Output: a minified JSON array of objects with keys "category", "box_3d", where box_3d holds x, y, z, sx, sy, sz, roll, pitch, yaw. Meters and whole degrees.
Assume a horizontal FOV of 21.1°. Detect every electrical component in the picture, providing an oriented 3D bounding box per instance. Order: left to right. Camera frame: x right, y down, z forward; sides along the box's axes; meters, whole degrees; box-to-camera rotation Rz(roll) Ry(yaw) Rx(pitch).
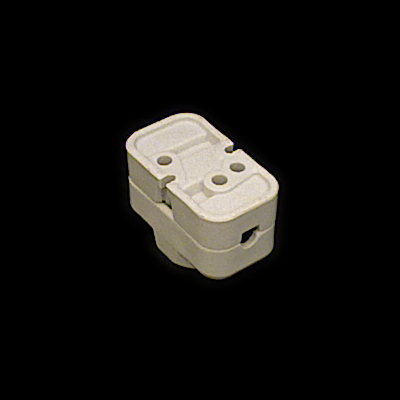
[{"category":"electrical component","box_3d":[0.000,0.000,0.640,0.054,0.060,0.094,-27,49,-27]}]
